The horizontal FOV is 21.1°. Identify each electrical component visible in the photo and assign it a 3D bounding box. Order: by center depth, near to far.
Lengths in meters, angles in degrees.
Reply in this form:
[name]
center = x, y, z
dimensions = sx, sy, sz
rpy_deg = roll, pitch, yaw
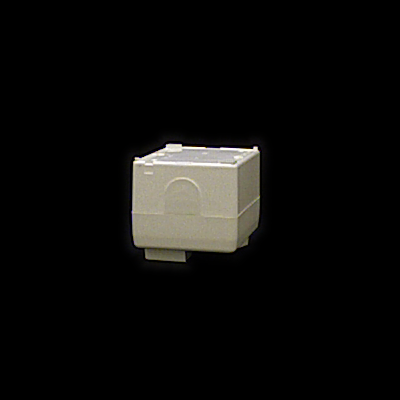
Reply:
[electrical component]
center = 0.000, 0.000, 0.652
dimensions = 0.061, 0.061, 0.095
rpy_deg = 3, 11, 12
